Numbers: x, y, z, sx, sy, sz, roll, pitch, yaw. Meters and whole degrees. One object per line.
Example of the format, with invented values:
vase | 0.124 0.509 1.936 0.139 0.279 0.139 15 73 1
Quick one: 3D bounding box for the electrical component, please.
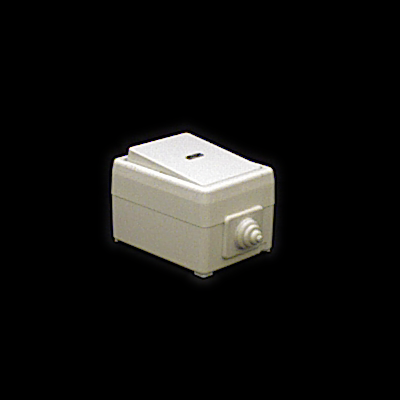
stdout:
electrical component | 0.000 0.000 0.637 0.095 0.061 0.061 20 28 40
